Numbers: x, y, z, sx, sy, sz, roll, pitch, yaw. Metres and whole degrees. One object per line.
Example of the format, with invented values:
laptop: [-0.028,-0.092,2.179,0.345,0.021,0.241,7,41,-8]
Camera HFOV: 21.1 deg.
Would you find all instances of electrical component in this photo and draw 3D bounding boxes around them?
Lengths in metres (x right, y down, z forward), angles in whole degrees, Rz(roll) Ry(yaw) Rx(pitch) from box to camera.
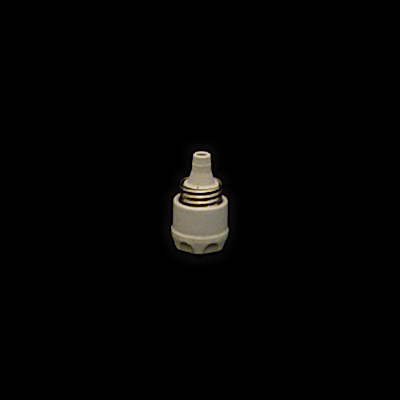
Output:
electrical component: [0.000,0.000,0.653,0.035,0.062,0.034,1,23,0]
